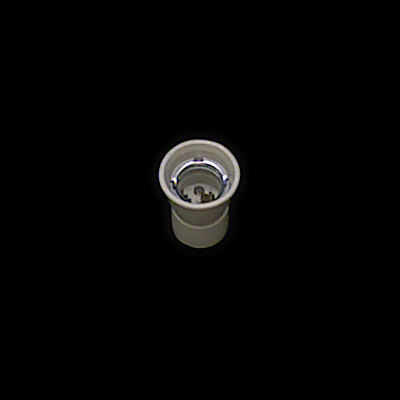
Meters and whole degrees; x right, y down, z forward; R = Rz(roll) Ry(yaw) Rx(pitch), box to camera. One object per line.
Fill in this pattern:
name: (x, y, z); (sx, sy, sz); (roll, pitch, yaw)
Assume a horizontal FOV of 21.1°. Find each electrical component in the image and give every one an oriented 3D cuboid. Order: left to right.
electrical component: (0.000, 0.000, 0.626); (0.044, 0.044, 0.065); (0, -28, 0)
